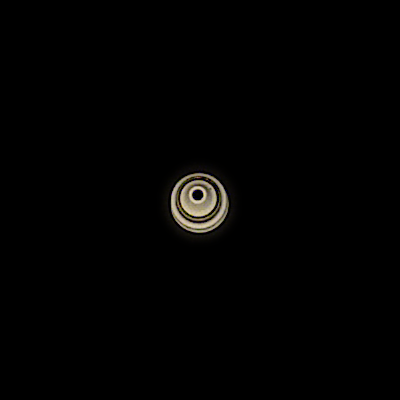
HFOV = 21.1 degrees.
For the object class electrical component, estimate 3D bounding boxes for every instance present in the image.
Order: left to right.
[{"bbox_3d":[0.000,0.000,0.637,0.035,0.035,0.061,0,-7,0],"label":"electrical component"}]
